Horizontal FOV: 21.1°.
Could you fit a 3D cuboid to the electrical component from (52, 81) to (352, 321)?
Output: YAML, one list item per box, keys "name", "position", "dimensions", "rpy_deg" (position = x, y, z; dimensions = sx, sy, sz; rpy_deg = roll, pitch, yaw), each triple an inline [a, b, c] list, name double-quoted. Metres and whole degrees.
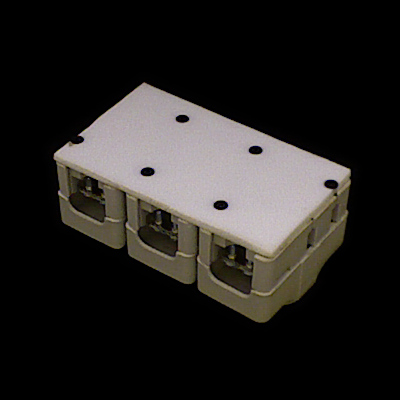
- name: "electrical component"
  position: [0.000, 0.000, 0.637]
  dimensions: [0.149, 0.063, 0.088]
  rpy_deg: [26, 48, 25]
